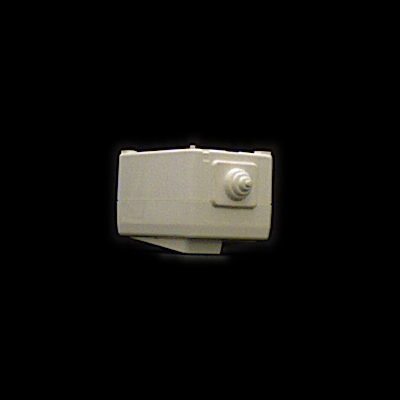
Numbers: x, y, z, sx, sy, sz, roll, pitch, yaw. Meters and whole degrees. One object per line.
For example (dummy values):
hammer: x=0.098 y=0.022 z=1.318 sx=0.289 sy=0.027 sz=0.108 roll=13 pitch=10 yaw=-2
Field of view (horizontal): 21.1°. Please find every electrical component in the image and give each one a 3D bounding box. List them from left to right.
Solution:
electrical component: x=0.000 y=0.000 z=0.645 sx=0.061 sy=0.061 sz=0.096 roll=2 pitch=-1 yaw=-36
